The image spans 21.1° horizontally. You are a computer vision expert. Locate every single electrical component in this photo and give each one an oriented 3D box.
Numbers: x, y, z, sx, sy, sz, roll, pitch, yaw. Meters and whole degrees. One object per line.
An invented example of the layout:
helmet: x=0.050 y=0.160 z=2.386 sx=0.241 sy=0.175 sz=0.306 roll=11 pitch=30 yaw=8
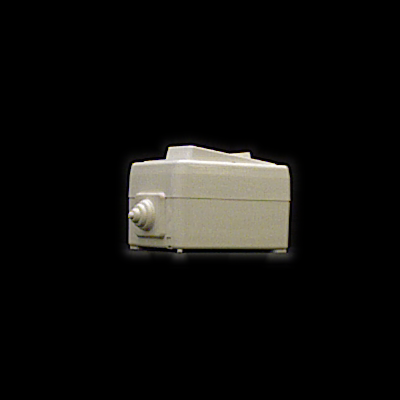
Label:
electrical component: x=0.000 y=0.000 z=0.648 sx=0.096 sy=0.061 sz=0.061 roll=2 pitch=0 yaw=-33
